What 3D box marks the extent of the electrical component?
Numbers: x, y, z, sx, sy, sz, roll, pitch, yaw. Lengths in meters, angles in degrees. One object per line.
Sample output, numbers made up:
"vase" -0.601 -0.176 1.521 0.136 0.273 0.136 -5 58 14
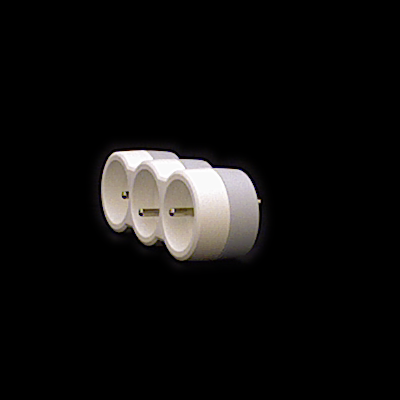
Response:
"electrical component" 0.000 0.000 0.648 0.074 0.052 0.137 -2 10 -28
